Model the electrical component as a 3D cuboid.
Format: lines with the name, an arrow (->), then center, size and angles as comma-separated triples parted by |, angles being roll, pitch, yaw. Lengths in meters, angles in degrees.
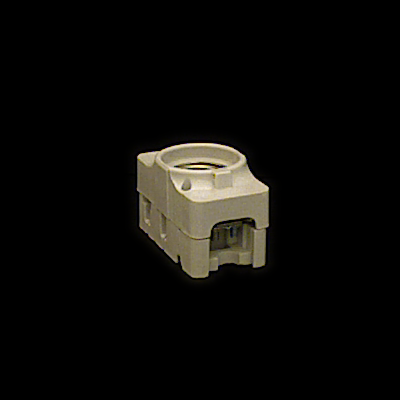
electrical component -> 0.000, 0.000, 0.646 | 0.050, 0.056, 0.088 | -9, 24, -24
